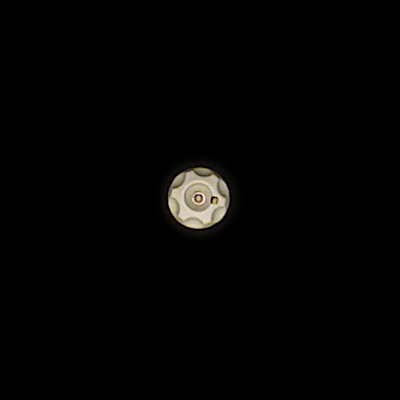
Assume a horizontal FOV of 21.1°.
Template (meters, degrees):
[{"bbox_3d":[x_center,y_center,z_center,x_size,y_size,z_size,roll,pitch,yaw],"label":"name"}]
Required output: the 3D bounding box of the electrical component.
[{"bbox_3d":[0.000,0.000,0.634,0.035,0.035,0.061,0,-5,1],"label":"electrical component"}]
